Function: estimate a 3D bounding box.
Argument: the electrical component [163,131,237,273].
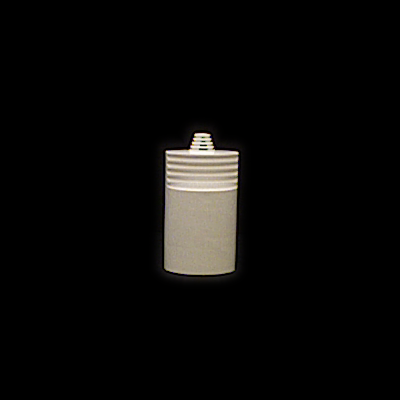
[{"bbox_3d":[0.000,0.000,0.642,0.043,0.081,0.043,1,11,0],"label":"electrical component"}]
